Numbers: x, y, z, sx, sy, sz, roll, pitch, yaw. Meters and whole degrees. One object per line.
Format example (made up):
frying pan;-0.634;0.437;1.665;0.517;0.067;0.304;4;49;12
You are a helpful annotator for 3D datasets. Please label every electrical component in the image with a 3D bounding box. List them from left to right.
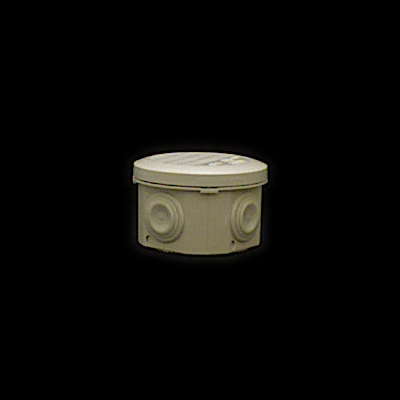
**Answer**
electrical component;0.000;0.000;0.642;0.080;0.051;0.079;1;10;0
